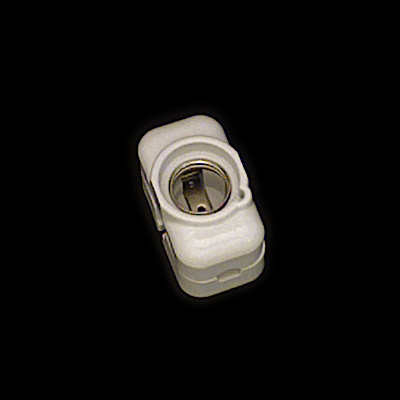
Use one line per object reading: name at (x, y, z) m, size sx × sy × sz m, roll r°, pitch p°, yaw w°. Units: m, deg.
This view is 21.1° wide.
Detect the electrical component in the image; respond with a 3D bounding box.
electrical component at (0.000, 0.000, 0.634) m, size 0.054 × 0.095 × 0.059 m, roll -19°, pitch -25°, yaw -8°
